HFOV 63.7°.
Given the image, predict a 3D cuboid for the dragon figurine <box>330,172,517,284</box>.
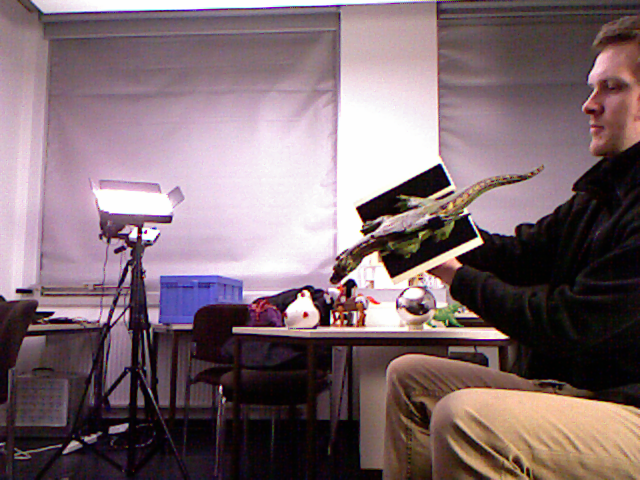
[{"bbox_3d":[0.196,-0.032,0.962,0.410,0.122,0.245,-29,4,10],"label":"dragon figurine"}]
